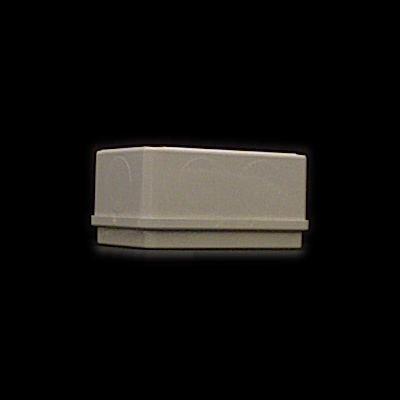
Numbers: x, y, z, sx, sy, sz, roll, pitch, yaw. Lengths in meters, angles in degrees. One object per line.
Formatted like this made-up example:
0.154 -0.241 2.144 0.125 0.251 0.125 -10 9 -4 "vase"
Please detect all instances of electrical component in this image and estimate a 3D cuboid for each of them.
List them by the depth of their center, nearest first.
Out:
0.000 0.000 0.649 0.113 0.057 0.078 1 1 -30 "electrical component"
